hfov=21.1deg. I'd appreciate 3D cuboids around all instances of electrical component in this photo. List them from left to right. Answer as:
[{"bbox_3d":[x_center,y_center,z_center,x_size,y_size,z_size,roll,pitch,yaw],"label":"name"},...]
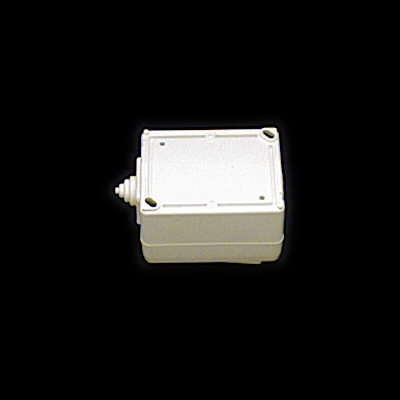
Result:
[{"bbox_3d":[0.000,0.000,0.626,0.096,0.061,0.061,-1,-38,-2],"label":"electrical component"}]
